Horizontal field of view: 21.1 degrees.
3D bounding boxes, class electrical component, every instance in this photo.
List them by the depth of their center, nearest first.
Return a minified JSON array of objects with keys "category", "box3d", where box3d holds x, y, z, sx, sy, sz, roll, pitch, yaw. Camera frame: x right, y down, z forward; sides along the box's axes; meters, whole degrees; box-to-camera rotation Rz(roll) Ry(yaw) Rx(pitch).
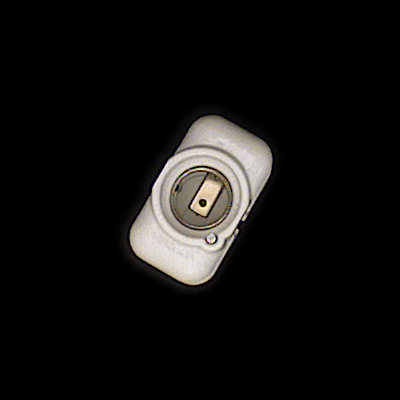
[{"category":"electrical component","box3d":[0.000,0.000,0.635,0.054,0.095,0.059,29,-4,4]}]
